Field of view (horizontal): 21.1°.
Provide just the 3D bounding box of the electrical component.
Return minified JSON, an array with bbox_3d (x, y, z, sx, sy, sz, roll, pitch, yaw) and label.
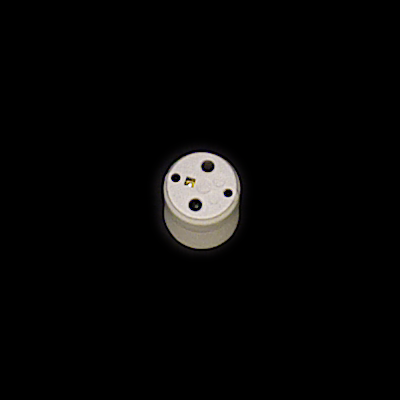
[{"bbox_3d":[0.000,0.000,0.629,0.045,0.045,0.055,0,-17,0],"label":"electrical component"}]
